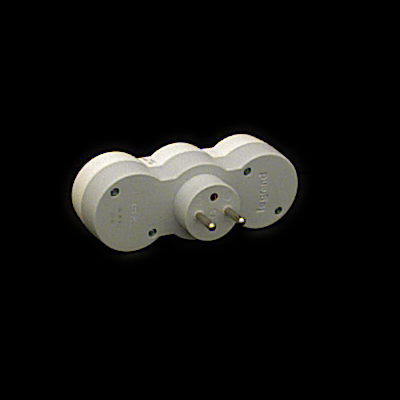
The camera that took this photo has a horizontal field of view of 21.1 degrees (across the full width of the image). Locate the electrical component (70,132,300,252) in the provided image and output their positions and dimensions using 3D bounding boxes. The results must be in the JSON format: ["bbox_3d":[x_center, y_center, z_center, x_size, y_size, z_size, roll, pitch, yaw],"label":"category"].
[{"bbox_3d":[0.000,0.000,0.644,0.139,0.053,0.072,-9,25,-25],"label":"electrical component"}]
